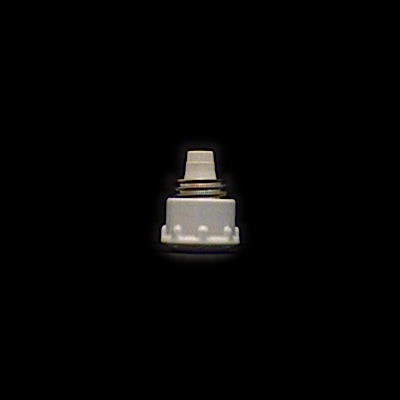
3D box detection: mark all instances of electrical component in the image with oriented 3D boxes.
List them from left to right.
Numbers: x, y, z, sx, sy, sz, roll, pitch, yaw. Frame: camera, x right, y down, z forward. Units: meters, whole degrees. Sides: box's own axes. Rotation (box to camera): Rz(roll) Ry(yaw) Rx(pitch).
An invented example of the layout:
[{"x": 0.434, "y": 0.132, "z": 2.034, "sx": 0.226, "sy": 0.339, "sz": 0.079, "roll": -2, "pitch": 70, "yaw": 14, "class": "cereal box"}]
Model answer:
[{"x": 0.000, "y": 0.000, "z": 0.655, "sx": 0.048, "sy": 0.062, "sz": 0.048, "roll": 0, "pitch": 2, "yaw": 1, "class": "electrical component"}]
